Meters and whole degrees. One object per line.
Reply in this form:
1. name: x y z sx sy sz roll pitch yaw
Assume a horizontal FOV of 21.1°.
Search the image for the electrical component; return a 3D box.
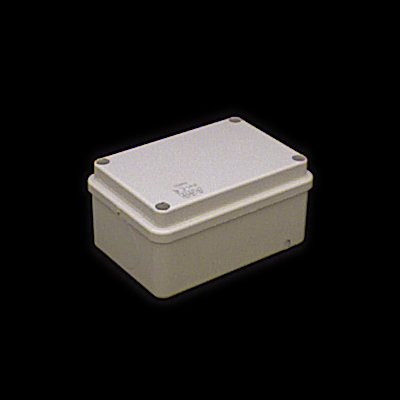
1. electrical component: 0.000 0.000 0.633 0.113 0.058 0.077 -20 37 -31
